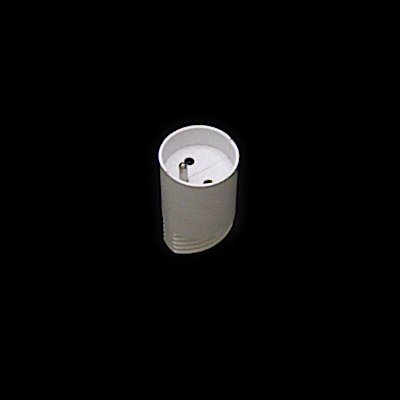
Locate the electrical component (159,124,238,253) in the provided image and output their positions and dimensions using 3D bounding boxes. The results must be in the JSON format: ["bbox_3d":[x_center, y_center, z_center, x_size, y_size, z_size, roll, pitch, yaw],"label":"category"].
[{"bbox_3d":[0.000,0.000,0.617,0.043,0.043,0.081,0,-38,1],"label":"electrical component"}]
